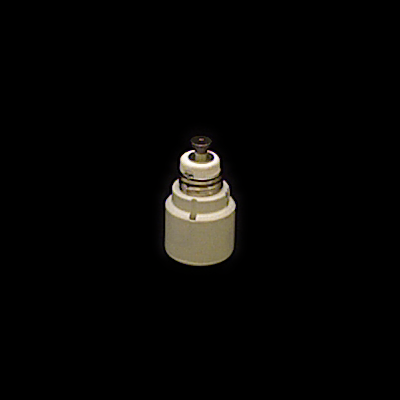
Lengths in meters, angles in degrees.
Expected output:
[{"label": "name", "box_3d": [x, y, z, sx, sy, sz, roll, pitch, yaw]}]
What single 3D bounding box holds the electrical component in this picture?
[{"label": "electrical component", "box_3d": [0.000, 0.000, 0.628, 0.040, 0.079, 0.039, 1, 30, 0]}]
